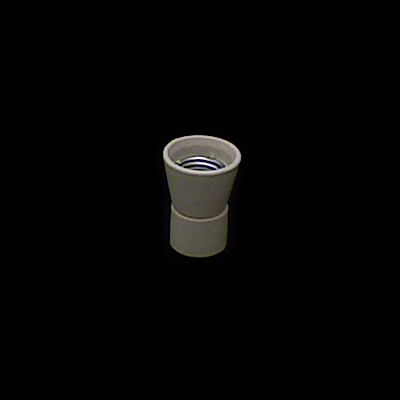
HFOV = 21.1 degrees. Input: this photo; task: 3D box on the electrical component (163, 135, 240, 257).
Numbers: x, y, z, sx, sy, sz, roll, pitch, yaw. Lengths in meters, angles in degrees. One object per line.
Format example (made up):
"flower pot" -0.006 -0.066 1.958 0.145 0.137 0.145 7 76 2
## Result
"electrical component" 0.000 0.000 0.633 0.044 0.066 0.044 2 31 -1
